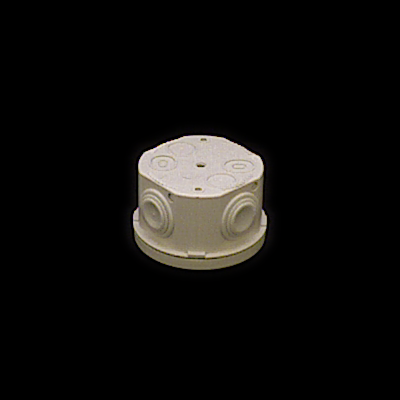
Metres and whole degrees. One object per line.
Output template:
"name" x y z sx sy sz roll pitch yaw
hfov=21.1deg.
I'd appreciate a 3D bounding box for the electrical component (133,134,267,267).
"electrical component" 0.000 0.000 0.636 0.080 0.051 0.079 1 32 0
